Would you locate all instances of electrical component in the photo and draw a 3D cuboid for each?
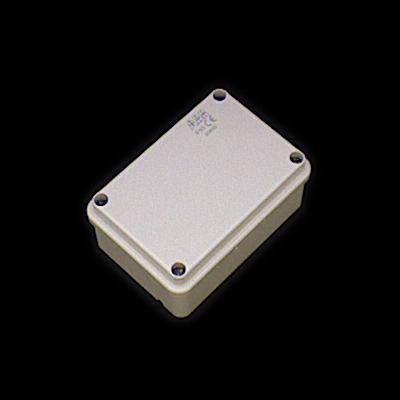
[{"bbox_3d":[0.000,0.000,0.628,0.078,0.113,0.057,40,-20,18],"label":"electrical component"}]
